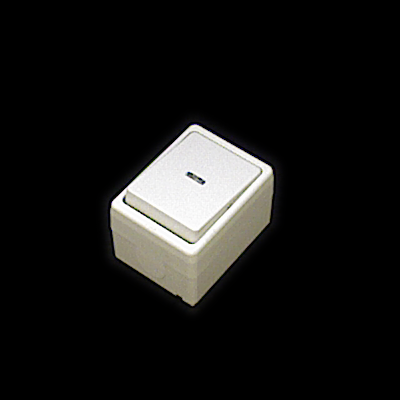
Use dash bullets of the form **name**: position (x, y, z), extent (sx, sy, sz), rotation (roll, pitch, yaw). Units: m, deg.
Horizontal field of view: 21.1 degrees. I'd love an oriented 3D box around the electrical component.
- **electrical component**: position (0.000, 0.000, 0.629), extent (0.061, 0.096, 0.061), rotation (31, -32, 21)
